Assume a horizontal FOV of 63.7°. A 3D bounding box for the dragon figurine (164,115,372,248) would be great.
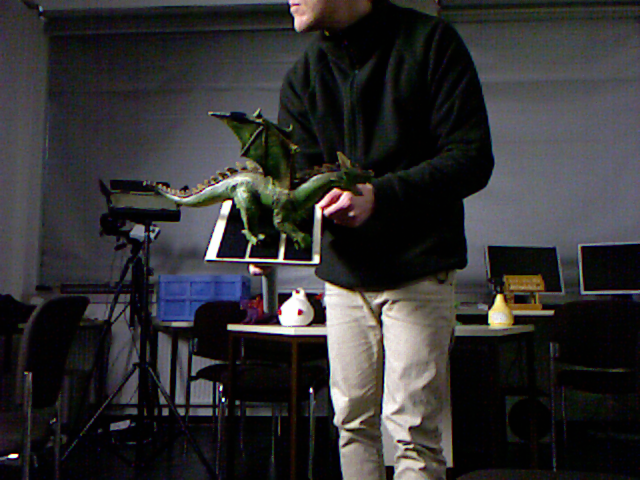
[{"bbox_3d":[-0.114,-0.120,0.919,0.411,0.237,0.125,11,42,10],"label":"dragon figurine"}]
